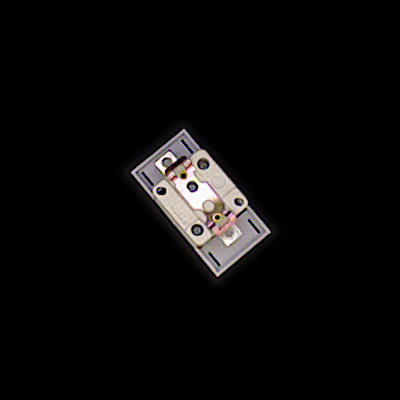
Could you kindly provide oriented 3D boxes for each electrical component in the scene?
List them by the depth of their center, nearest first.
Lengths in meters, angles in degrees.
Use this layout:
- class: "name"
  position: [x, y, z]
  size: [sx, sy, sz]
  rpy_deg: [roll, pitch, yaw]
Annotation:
- class: "electrical component"
  position: [0.000, 0.000, 0.626]
  size: [0.042, 0.081, 0.063]
  rpy_deg: [-40, -5, -4]
